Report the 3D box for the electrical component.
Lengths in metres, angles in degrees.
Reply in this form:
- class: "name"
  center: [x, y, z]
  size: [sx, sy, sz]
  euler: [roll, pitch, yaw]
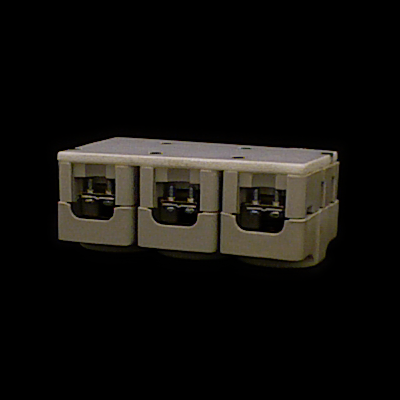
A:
- class: "electrical component"
  center: [0.000, 0.000, 0.652]
  size: [0.150, 0.062, 0.088]
  euler: [5, 11, 19]
